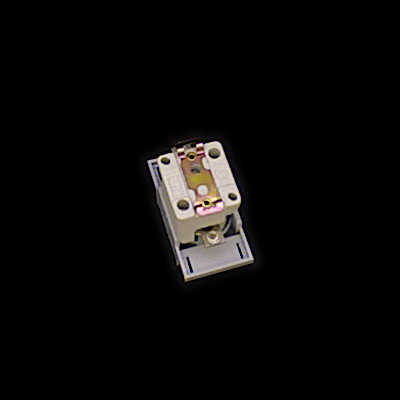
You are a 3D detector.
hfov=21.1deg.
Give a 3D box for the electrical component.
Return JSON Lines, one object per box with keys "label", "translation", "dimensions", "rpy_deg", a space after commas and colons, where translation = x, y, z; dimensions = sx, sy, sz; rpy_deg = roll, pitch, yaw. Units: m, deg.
{"label": "electrical component", "translation": [0.000, 0.000, 0.625], "dimensions": [0.042, 0.081, 0.063], "rpy_deg": [-16, -26, -8]}
